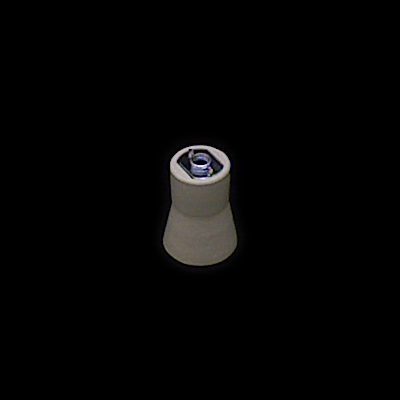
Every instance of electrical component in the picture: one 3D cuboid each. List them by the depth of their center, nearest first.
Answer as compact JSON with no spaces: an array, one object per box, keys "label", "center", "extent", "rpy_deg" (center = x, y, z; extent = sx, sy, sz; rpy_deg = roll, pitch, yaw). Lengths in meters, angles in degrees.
[{"label":"electrical component","center":[0.000,0.000,0.629],"extent":[0.044,0.066,0.044],"rpy_deg":[0,43,0]}]
